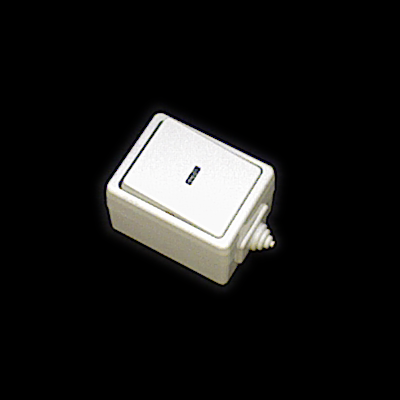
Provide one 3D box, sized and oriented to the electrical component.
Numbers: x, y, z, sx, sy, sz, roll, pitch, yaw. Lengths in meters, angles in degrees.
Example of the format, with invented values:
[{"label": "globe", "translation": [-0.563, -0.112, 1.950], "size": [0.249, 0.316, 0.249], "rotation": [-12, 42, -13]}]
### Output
[{"label": "electrical component", "translation": [0.000, 0.000, 0.625], "size": [0.096, 0.062, 0.060], "rotation": [27, -24, 13]}]
